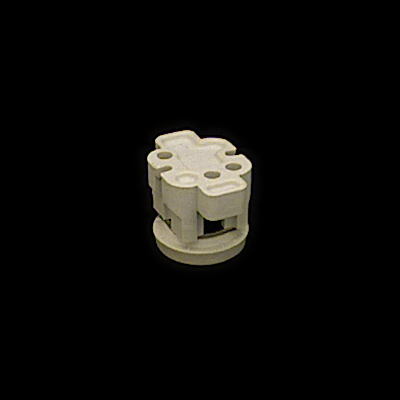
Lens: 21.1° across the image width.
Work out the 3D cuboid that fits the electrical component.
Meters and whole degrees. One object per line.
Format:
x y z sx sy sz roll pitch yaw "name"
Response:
0.000 0.000 0.643 0.058 0.057 0.077 -15 34 -23 "electrical component"
